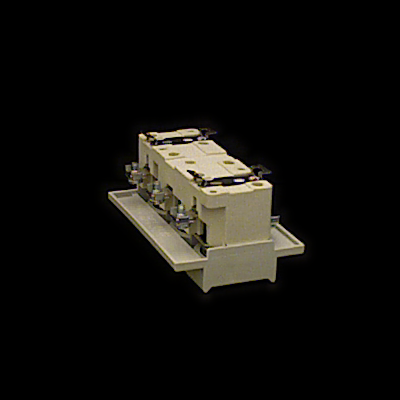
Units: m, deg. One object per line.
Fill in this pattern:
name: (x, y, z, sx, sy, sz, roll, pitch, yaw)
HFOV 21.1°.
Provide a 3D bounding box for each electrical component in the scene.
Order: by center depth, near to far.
electrical component: (0.000, 0.000, 0.648, 0.079, 0.064, 0.119, -7, 23, -22)
